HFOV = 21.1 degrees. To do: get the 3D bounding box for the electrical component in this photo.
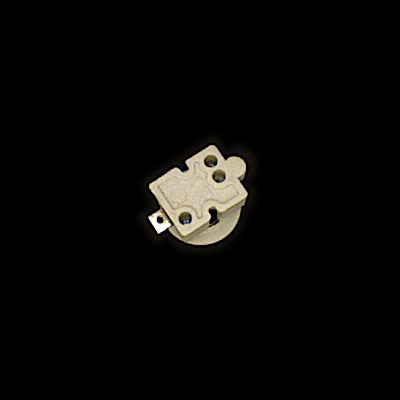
[{"bbox_3d":[0.000,0.000,0.638,0.067,0.048,0.055,-32,-12,-8],"label":"electrical component"}]
